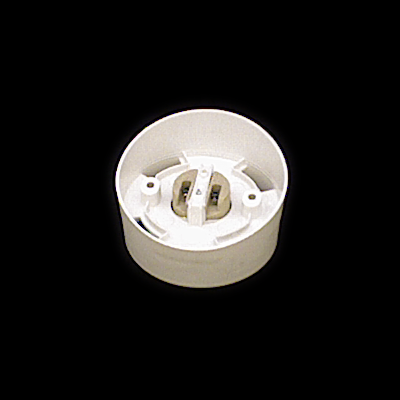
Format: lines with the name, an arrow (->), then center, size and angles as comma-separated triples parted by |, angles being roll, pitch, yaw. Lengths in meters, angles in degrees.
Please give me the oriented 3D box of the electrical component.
electrical component -> 0.000, 0.000, 0.629 | 0.099, 0.065, 0.097 | 0, 41, 0
